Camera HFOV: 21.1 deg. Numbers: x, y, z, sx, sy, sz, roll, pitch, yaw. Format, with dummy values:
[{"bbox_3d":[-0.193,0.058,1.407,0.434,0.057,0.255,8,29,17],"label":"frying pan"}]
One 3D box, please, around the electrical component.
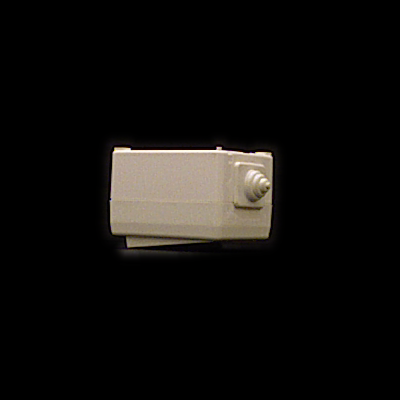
[{"bbox_3d":[0.000,0.000,0.647,0.096,0.061,0.062,2,1,34],"label":"electrical component"}]
